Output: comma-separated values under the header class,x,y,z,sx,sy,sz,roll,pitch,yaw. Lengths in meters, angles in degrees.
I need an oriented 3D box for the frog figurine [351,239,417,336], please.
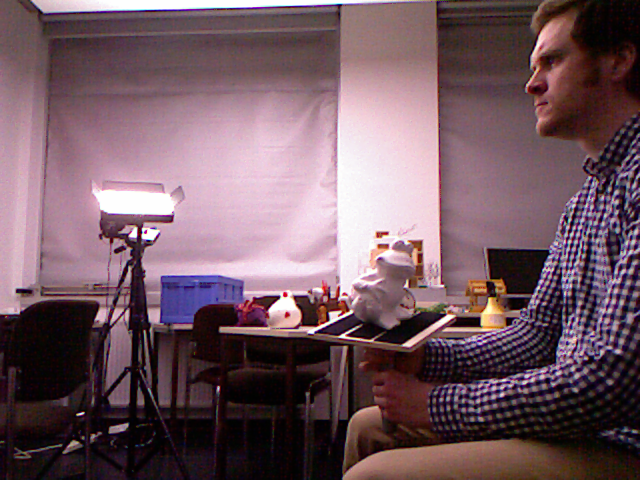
class,x,y,z,sx,sy,sz,roll,pitch,yaw
frog figurine,0.116,0.077,0.942,0.138,0.159,0.123,-7,8,-37
